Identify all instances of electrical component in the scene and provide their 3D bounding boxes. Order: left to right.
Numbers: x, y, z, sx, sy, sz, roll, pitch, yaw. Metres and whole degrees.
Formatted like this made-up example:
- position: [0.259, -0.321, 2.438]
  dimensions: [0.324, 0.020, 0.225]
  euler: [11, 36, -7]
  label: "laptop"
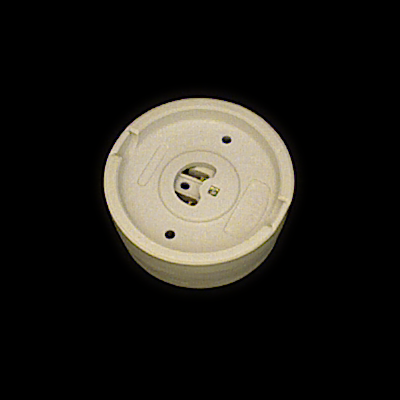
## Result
- position: [0.000, 0.000, 0.634]
  dimensions: [0.108, 0.108, 0.060]
  euler: [0, -27, 0]
  label: "electrical component"
